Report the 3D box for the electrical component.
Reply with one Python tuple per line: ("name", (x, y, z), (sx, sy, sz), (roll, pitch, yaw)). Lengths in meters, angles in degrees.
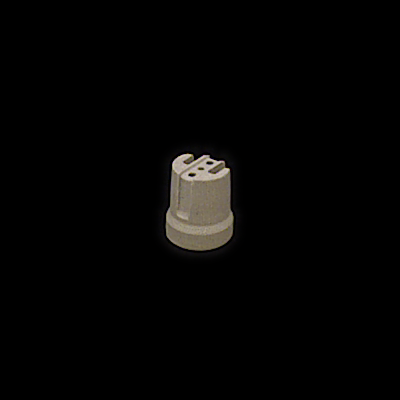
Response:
("electrical component", (0.000, 0.000, 0.638), (0.040, 0.046, 0.040), (1, 33, 0))
